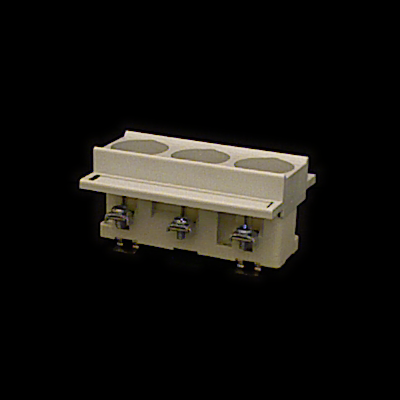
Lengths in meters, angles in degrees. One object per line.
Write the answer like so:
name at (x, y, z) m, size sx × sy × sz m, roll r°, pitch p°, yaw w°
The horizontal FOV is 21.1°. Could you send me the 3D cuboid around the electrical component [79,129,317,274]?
electrical component at (0.000, 0.000, 0.653) m, size 0.121 × 0.064 × 0.078 m, roll 10°, pitch 22°, yaw 21°
